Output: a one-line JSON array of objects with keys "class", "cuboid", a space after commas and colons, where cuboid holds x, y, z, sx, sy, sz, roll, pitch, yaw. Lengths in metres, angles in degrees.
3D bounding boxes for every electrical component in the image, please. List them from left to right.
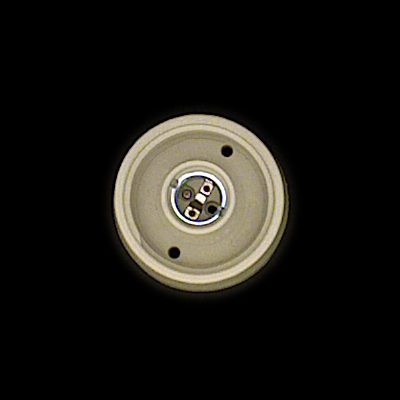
[{"class": "electrical component", "cuboid": [0.000, 0.000, 0.634, 0.108, 0.108, 0.060, 0, -6, 0]}]
